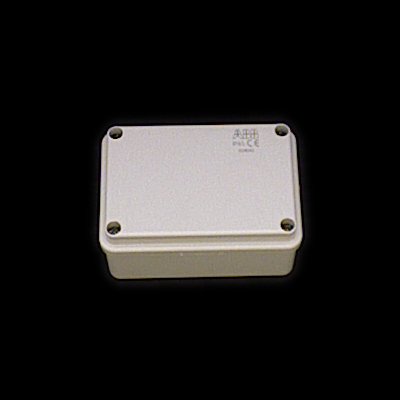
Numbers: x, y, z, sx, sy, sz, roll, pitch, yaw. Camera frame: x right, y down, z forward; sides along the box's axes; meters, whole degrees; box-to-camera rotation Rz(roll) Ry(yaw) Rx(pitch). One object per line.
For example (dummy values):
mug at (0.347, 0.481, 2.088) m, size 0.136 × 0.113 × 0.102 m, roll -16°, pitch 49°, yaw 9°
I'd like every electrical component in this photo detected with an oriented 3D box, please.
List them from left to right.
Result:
electrical component at (0.000, 0.000, 0.628) m, size 0.113 × 0.078 × 0.057 m, roll -1°, pitch -27°, yaw -1°
